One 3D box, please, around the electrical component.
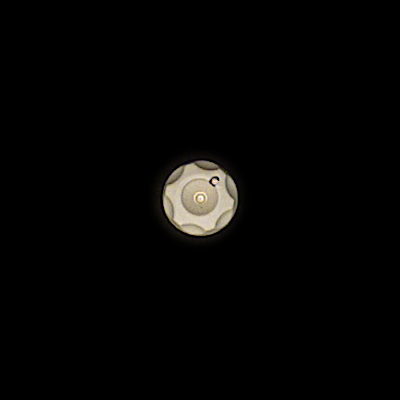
[{"bbox_3d":[0.000,0.000,0.635,0.043,0.043,0.062,0,-4,1],"label":"electrical component"}]
